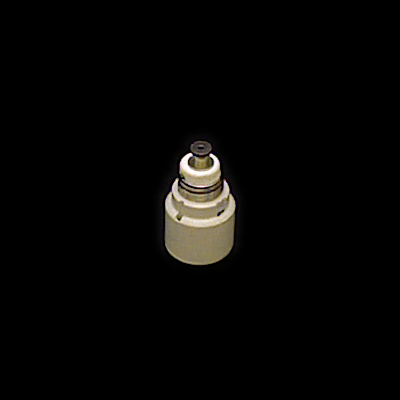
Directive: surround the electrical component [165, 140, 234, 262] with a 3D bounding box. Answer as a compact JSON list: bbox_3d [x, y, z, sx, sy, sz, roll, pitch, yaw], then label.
[{"bbox_3d":[0.000,0.000,0.624,0.040,0.079,0.039,1,41,0],"label":"electrical component"}]
